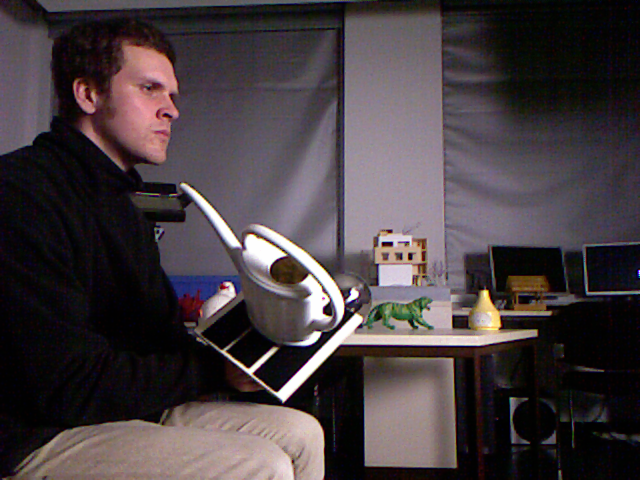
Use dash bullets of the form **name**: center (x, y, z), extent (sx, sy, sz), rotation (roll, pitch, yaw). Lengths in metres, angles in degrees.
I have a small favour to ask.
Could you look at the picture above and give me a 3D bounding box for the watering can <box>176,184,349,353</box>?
- **watering can**: center (-0.096, 0.051, 0.828), extent (0.352, 0.219, 0.106), rotation (32, 52, 26)
